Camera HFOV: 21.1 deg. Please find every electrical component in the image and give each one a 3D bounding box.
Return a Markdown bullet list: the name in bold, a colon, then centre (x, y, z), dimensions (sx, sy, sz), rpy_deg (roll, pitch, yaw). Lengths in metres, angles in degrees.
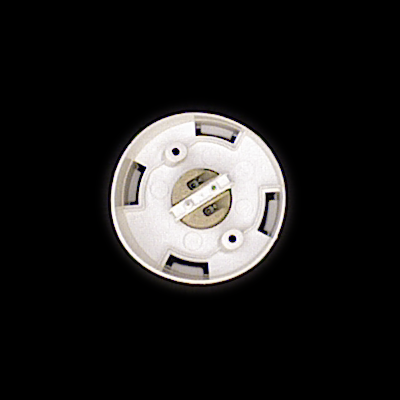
- **electrical component**: centre (0.000, 0.000, 0.624), dimensions (0.099, 0.099, 0.064), rpy_deg (0, -6, 0)
